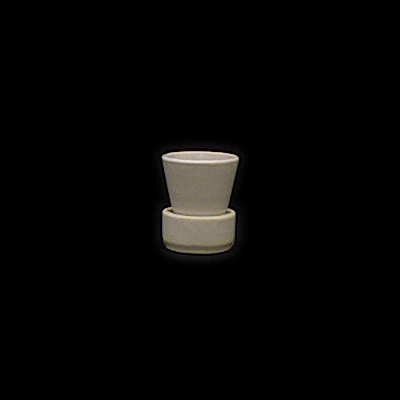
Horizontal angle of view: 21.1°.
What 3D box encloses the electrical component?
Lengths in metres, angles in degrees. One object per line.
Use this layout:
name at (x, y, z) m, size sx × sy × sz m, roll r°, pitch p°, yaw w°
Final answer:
electrical component at (0.000, 0.000, 0.643) m, size 0.045 × 0.055 × 0.044 m, roll 1°, pitch 12°, yaw 0°
